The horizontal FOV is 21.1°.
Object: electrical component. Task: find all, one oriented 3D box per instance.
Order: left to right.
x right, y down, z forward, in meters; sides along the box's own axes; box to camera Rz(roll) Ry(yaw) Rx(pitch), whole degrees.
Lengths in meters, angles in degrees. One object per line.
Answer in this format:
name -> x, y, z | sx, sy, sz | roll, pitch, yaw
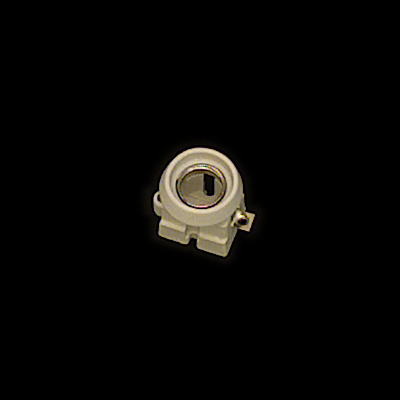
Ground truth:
electrical component -> 0.000, 0.000, 0.637 | 0.066, 0.048, 0.055 | 17, -23, 8
